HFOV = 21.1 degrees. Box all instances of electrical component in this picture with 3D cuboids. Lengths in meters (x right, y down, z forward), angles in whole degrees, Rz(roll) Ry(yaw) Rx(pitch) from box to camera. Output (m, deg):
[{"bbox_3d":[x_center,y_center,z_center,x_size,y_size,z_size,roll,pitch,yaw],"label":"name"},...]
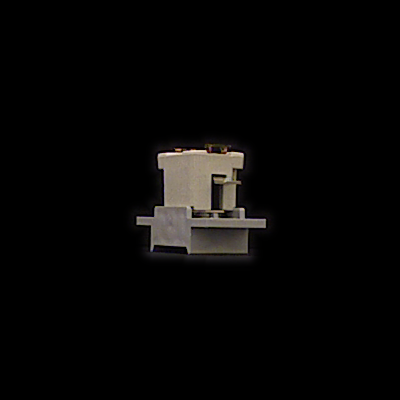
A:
[{"bbox_3d":[0.000,0.000,0.649,0.042,0.064,0.080,0,1,-34],"label":"electrical component"}]
